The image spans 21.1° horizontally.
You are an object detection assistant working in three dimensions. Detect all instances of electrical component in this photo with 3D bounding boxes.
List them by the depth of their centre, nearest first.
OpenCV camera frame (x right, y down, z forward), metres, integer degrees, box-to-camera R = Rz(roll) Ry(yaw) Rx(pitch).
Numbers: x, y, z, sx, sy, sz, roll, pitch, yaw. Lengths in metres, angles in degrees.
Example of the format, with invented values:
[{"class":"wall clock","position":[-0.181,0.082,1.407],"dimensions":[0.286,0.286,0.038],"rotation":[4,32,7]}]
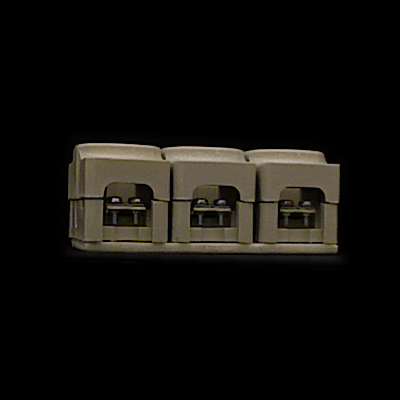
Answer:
[{"class":"electrical component","position":[0.000,0.000,0.658],"dimensions":[0.150,0.062,0.089],"rotation":[2,-1,-13]}]
